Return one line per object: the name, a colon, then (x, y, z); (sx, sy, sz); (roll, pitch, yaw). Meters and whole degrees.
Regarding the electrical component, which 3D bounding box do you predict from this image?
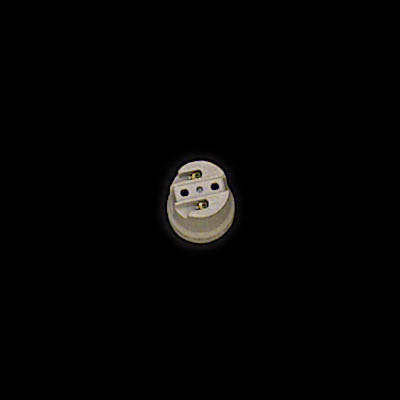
electrical component: (0.000, 0.000, 0.633); (0.040, 0.040, 0.046); (0, -17, 0)
